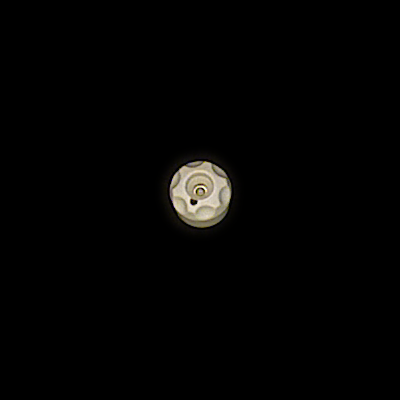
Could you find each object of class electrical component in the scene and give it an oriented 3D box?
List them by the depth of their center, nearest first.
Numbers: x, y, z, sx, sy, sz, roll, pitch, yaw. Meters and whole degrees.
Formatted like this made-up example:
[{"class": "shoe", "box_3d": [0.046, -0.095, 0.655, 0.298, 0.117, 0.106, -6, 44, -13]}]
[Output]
[{"class": "electrical component", "box_3d": [0.000, 0.000, 0.633, 0.035, 0.035, 0.061, 0, -16, 1]}]
